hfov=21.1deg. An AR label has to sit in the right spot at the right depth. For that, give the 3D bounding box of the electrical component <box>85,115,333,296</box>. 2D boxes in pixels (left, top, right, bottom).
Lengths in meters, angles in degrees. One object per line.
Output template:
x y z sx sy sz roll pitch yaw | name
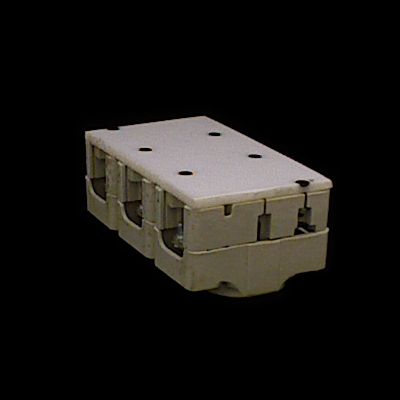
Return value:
0.000 0.000 0.646 0.089 0.063 0.147 -9 22 -26 | electrical component
